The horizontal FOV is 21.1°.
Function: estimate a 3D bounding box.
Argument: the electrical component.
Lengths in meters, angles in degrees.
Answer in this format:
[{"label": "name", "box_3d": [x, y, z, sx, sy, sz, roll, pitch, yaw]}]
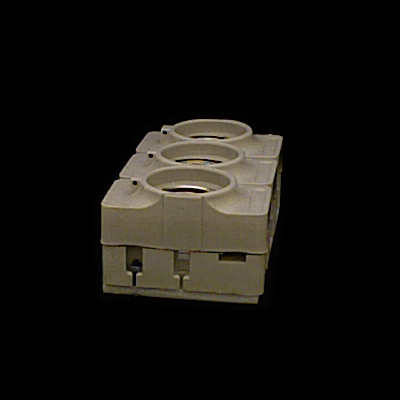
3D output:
[{"label": "electrical component", "box_3d": [0.000, 0.000, 0.644, 0.089, 0.063, 0.147, 3, 20, 6]}]
